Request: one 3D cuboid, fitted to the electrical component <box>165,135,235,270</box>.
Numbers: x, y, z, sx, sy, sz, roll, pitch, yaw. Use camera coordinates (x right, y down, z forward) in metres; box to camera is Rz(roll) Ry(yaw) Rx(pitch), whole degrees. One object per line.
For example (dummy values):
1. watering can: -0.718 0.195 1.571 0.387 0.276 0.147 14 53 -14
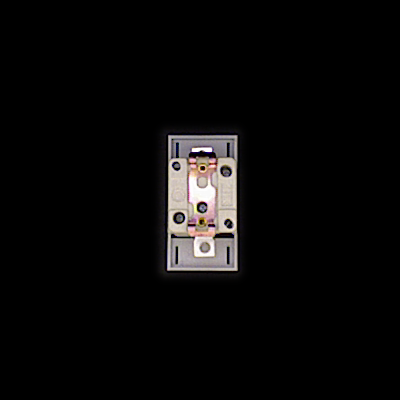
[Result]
1. electrical component: 0.000 0.000 0.626 0.042 0.081 0.063 0 -6 1
